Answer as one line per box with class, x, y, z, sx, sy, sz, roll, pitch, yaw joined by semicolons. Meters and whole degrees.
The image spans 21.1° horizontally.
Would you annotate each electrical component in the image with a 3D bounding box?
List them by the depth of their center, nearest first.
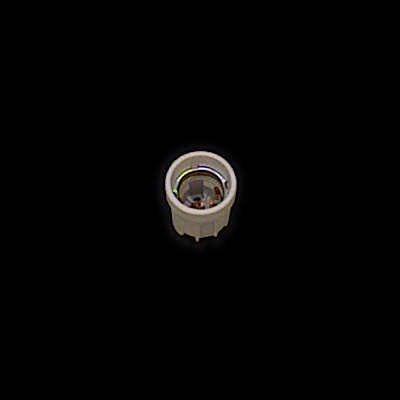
electrical component;0.000;0.000;0.627;0.040;0.040;0.046;0;-27;0
